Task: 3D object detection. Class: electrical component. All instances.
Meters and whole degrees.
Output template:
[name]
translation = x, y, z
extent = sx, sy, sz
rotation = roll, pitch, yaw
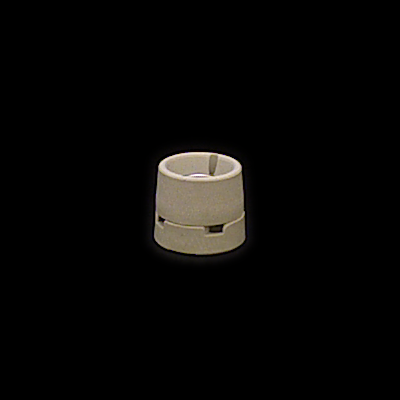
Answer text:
[electrical component]
translation = 0.000, 0.000, 0.640
extent = 0.055, 0.047, 0.055
rotation = 0, 22, 0
